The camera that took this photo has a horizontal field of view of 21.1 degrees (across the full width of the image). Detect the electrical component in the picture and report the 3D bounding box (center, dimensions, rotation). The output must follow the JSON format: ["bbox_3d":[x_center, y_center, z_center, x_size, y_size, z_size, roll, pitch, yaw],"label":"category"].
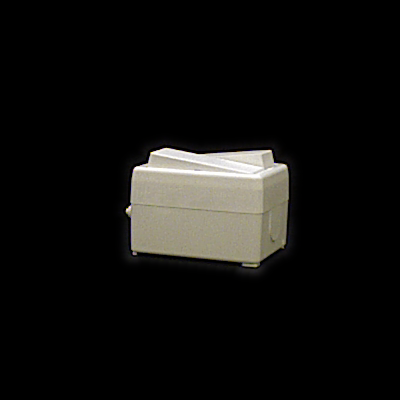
[{"bbox_3d":[0.000,0.000,0.645,0.096,0.061,0.061,5,11,20],"label":"electrical component"}]
